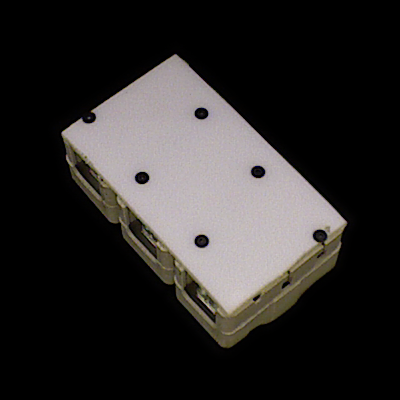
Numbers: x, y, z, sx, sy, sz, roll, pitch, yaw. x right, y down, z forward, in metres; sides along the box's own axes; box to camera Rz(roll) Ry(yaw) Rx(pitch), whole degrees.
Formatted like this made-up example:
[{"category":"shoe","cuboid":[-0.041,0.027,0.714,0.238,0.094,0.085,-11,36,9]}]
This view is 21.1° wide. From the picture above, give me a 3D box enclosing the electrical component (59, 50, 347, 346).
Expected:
[{"category":"electrical component","cuboid":[0.000,0.000,0.631,0.089,0.149,0.062,-36,-22,-17]}]
